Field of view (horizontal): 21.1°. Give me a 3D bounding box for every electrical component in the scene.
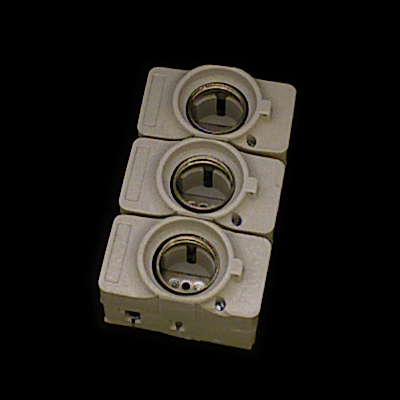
[{"bbox_3d":[0.000,0.000,0.631,0.089,0.149,0.062,9,-26,4],"label":"electrical component"}]
